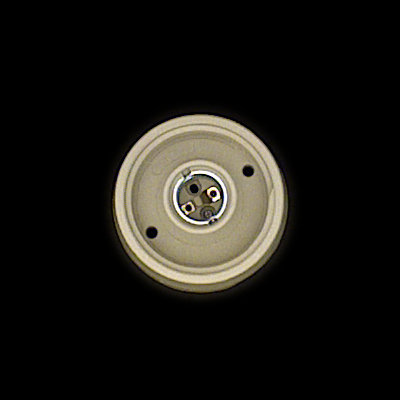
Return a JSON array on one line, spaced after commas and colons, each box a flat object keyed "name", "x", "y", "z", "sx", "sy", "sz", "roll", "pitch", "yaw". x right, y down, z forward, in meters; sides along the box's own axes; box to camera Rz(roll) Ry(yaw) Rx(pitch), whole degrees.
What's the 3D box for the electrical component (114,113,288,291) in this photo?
[{"name": "electrical component", "x": 0.000, "y": 0.000, "z": 0.634, "sx": 0.108, "sy": 0.108, "sz": 0.060, "roll": 0, "pitch": -6, "yaw": 0}]
